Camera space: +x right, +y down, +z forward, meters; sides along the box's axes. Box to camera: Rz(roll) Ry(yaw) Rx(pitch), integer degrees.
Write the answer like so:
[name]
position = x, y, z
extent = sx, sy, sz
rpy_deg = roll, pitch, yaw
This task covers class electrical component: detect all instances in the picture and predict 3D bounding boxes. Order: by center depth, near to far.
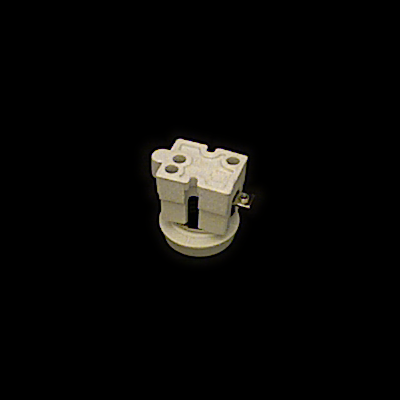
[electrical component]
position = 0.000, 0.000, 0.640
extent = 0.066, 0.056, 0.048
rpy_deg = 14, 43, 13
